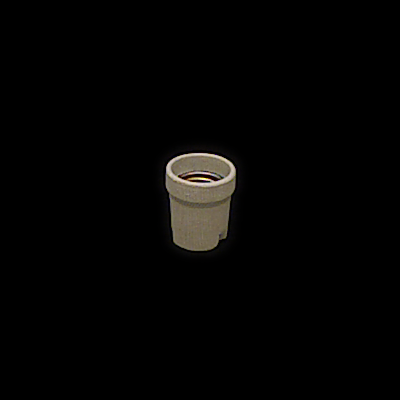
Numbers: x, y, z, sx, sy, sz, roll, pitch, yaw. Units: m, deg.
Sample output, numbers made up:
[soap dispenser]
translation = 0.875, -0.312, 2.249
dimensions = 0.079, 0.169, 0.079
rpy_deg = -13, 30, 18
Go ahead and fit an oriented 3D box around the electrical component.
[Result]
[electrical component]
translation = 0.000, 0.000, 0.636
dimensions = 0.040, 0.047, 0.039
rpy_deg = 1, 32, 0
